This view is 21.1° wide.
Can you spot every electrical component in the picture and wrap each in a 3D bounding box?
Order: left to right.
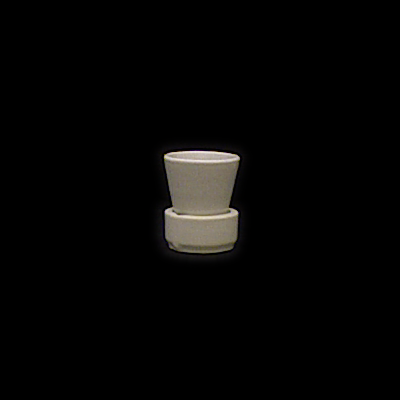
[{"bbox_3d":[0.000,0.000,0.644,0.045,0.055,0.044,1,10,0],"label":"electrical component"}]
